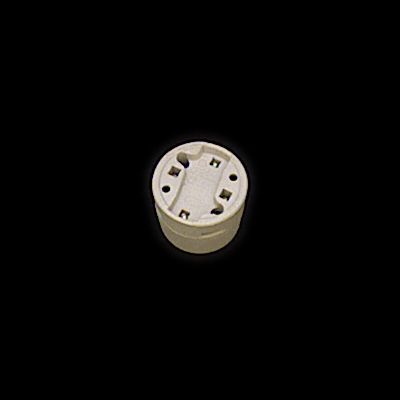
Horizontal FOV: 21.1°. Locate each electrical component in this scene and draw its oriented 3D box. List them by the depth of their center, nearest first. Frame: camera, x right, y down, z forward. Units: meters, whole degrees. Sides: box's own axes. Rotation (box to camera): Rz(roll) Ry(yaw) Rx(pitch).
[{"bbox_3d":[0.000,0.000,0.634,0.055,0.056,0.047,0,-27,0],"label":"electrical component"}]
